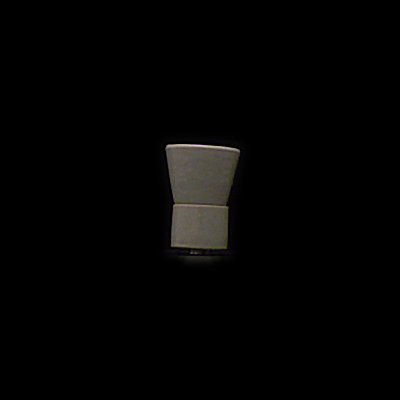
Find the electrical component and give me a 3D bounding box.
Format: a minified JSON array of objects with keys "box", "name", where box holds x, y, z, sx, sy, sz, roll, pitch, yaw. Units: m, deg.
[{"box":[0.000,0.000,0.652,0.044,0.065,0.044,2,0,0],"name":"electrical component"}]
